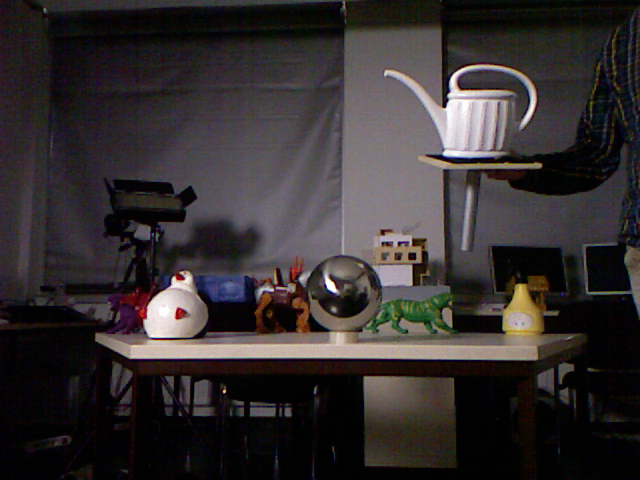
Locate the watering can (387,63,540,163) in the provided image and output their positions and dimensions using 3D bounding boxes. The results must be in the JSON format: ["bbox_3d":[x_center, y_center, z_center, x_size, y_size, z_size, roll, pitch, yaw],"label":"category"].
[{"bbox_3d":[0.313,-0.275,1.135,0.348,0.222,0.105,-1,15,-6],"label":"watering can"}]
